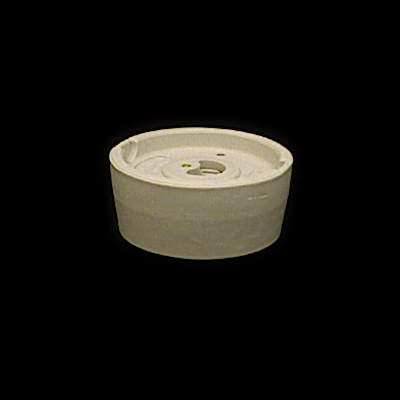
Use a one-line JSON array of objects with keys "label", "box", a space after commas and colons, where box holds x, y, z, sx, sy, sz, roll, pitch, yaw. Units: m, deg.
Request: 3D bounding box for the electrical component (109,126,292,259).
[{"label": "electrical component", "box": [0.000, 0.000, 0.644, 0.108, 0.061, 0.106, 2, 22, 0]}]
